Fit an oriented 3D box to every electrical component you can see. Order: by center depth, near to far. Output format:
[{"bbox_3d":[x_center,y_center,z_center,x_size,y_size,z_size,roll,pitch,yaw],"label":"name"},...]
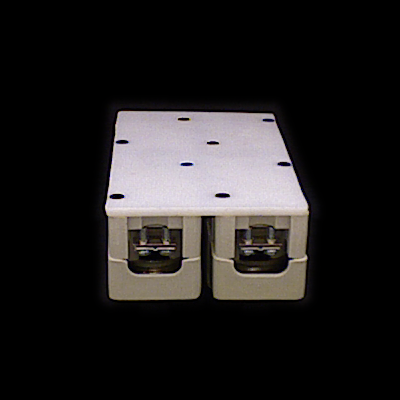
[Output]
[{"bbox_3d":[0.000,0.000,0.638,0.105,0.061,0.183,0,21,-3],"label":"electrical component"}]
